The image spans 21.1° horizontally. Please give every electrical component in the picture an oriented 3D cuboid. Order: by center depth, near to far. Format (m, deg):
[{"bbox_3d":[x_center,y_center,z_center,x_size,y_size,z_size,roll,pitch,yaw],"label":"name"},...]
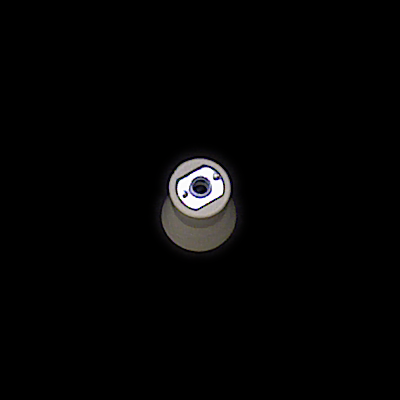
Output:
[{"bbox_3d":[0.000,0.000,0.624,0.044,0.044,0.065,0,-16,-1],"label":"electrical component"}]
